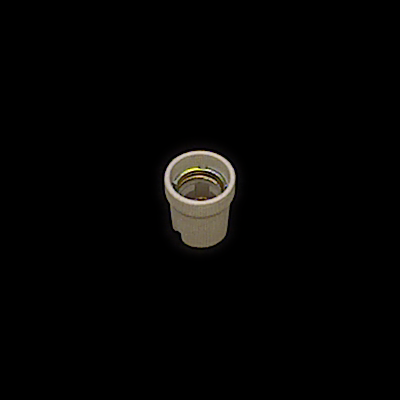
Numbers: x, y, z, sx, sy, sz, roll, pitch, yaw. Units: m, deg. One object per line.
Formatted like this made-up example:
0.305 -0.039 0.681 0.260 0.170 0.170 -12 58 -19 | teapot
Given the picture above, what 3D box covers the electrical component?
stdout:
0.000 0.000 0.630 0.040 0.040 0.047 0 -38 -1 | electrical component
